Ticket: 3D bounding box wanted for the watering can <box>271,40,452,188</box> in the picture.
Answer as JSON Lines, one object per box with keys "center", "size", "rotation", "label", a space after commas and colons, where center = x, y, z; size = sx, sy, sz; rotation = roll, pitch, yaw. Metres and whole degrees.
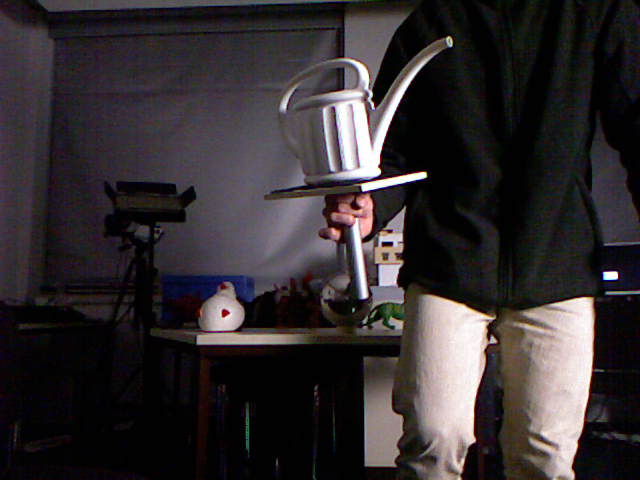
{"center": [0.059, -0.189, 0.839], "size": [0.347, 0.223, 0.105], "rotation": [-1, 14, 38], "label": "watering can"}
